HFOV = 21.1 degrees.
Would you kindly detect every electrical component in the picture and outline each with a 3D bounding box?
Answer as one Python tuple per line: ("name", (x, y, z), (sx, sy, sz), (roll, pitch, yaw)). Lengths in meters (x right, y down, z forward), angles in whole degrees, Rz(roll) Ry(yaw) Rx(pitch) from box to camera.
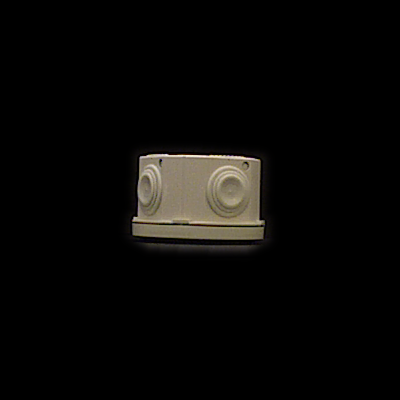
("electrical component", (0.000, 0.000, 0.650), (0.080, 0.051, 0.080), (2, 0, 0))
